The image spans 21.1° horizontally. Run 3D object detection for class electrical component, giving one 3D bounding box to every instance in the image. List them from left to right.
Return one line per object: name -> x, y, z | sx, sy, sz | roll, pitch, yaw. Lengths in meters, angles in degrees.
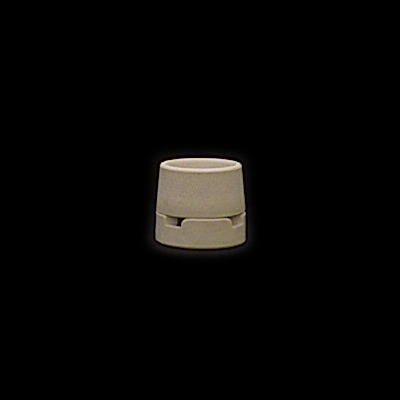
electrical component -> 0.000, 0.000, 0.645 | 0.055, 0.047, 0.055 | 0, 11, 0
